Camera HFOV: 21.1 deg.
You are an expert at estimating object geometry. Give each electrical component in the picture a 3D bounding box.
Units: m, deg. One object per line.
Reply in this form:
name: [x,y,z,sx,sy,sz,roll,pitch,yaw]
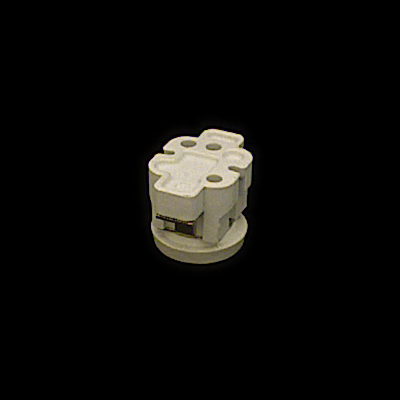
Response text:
electrical component: [0.000,0.000,0.641,0.057,0.057,0.078,14,36,18]
